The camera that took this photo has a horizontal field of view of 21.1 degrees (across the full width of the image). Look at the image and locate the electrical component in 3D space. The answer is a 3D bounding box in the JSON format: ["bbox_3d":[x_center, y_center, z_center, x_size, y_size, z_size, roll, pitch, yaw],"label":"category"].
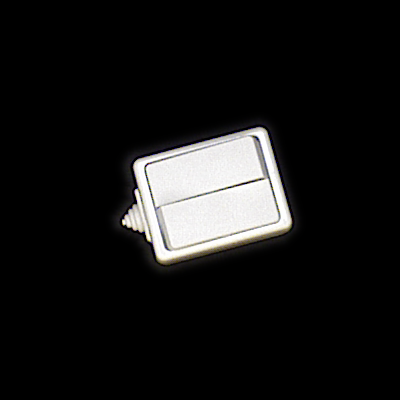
[{"bbox_3d":[0.000,0.000,0.627,0.096,0.062,0.061,-15,-7,-2],"label":"electrical component"}]
